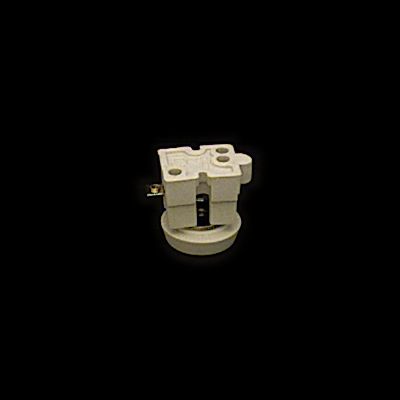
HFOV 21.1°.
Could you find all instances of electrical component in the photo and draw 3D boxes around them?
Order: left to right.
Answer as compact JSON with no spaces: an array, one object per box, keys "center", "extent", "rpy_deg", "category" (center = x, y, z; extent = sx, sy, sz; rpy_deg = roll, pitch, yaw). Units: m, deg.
[{"center":[0.000,0.000,0.644],"extent":[0.066,0.056,0.048],"rpy_deg":[-4,34,-7],"category":"electrical component"}]
